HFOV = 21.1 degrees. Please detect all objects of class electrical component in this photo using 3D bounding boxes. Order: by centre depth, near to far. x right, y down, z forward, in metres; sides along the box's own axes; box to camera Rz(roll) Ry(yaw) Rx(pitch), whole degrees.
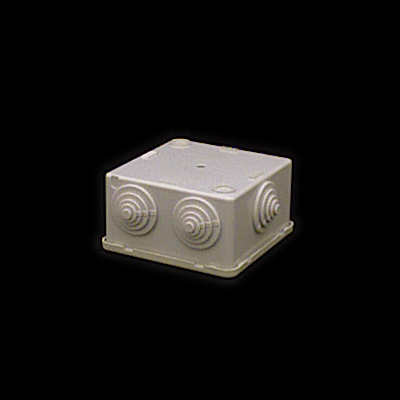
[{"bbox_3d":[0.000,0.000,0.641,0.099,0.049,0.099,12,23,26],"label":"electrical component"}]
